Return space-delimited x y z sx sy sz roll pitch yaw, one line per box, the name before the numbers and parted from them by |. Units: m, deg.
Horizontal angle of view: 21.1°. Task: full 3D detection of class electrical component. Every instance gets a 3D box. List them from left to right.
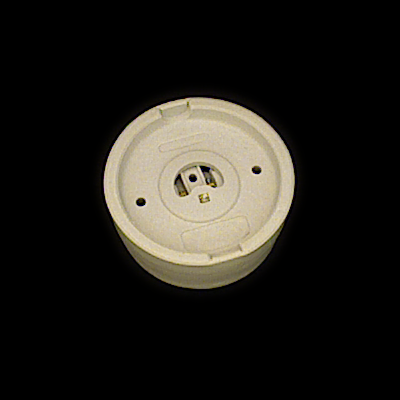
electrical component | 0.000 0.000 0.633 0.108 0.108 0.060 0 -27 0
